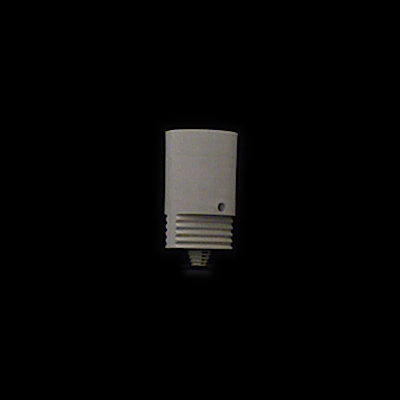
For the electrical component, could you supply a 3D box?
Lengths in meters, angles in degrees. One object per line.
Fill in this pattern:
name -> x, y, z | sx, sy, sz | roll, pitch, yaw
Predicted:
electrical component -> 0.000, 0.000, 0.652 | 0.043, 0.081, 0.043 | 2, 1, 0
